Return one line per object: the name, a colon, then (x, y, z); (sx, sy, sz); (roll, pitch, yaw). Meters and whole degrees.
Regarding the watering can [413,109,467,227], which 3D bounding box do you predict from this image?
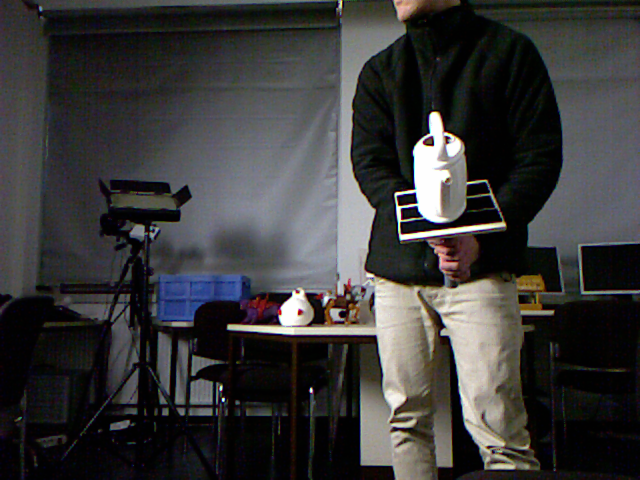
watering can: (0.242, -0.123, 1.024); (0.104, 0.220, 0.357); (-6, 34, 11)
